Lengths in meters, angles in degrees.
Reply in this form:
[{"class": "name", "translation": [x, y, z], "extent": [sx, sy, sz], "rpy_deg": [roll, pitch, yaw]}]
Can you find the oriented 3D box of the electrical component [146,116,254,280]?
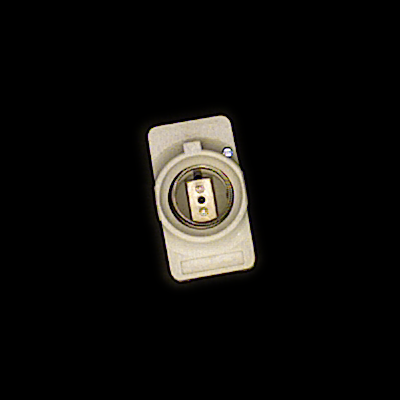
[{"class": "electrical component", "translation": [0.000, 0.000, 0.637], "extent": [0.050, 0.090, 0.055], "rpy_deg": [-10, -6, 0]}]
